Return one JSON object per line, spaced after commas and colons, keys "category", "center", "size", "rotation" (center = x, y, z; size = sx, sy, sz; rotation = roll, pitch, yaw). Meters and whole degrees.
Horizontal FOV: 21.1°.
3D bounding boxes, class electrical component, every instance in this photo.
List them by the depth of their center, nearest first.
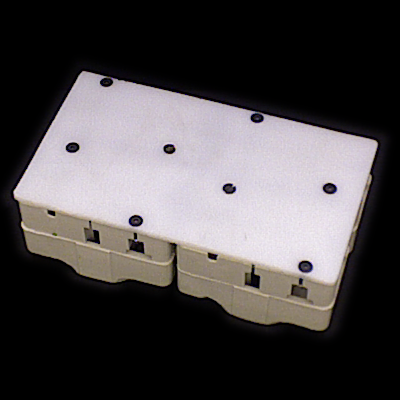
{"category": "electrical component", "center": [0.000, 0.000, 0.627], "size": [0.186, 0.105, 0.060], "rotation": [15, -36, 10]}
